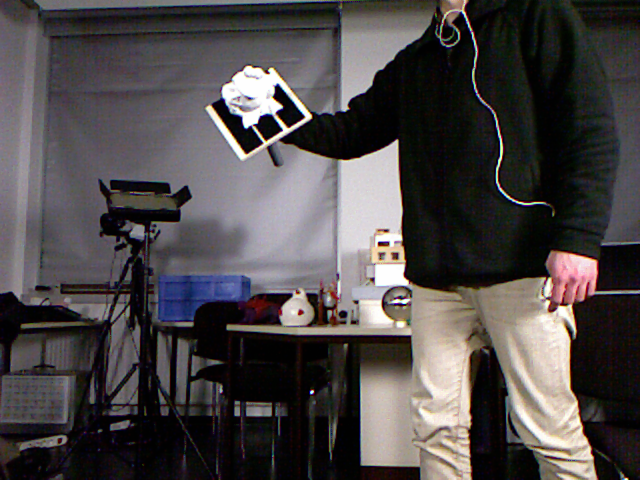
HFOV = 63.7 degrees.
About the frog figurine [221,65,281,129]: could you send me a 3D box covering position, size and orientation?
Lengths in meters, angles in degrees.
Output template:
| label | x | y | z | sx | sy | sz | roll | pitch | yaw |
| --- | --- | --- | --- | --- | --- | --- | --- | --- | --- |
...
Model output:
| label | x | y | z | sx | sy | sz | roll | pitch | yaw |
| --- | --- | --- | --- | --- | --- | --- | --- | --- | --- |
| frog figurine | -0.171 | -0.362 | 1.228 | 0.137 | 0.125 | 0.156 | -14 | -30 | 3 |
